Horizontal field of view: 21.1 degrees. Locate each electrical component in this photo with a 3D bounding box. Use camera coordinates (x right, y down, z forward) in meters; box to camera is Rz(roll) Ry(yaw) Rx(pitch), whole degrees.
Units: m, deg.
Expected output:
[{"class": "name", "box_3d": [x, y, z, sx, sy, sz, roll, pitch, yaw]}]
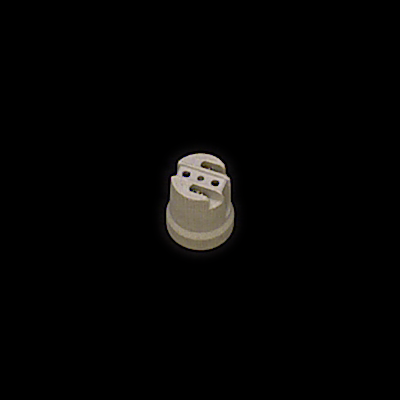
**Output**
[{"class": "electrical component", "box_3d": [0.000, 0.000, 0.633, 0.040, 0.040, 0.046, 0, -37, 0]}]
